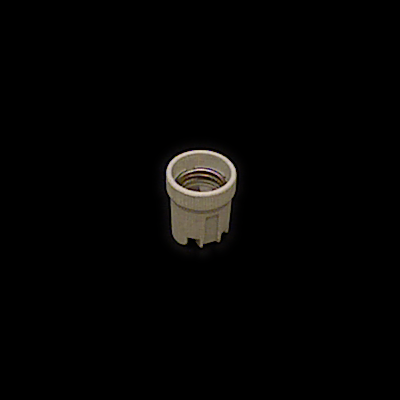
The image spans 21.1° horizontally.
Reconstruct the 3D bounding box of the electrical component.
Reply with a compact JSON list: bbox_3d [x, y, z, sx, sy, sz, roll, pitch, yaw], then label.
[{"bbox_3d":[0.000,0.000,0.631,0.040,0.047,0.039,1,42,0],"label":"electrical component"}]
